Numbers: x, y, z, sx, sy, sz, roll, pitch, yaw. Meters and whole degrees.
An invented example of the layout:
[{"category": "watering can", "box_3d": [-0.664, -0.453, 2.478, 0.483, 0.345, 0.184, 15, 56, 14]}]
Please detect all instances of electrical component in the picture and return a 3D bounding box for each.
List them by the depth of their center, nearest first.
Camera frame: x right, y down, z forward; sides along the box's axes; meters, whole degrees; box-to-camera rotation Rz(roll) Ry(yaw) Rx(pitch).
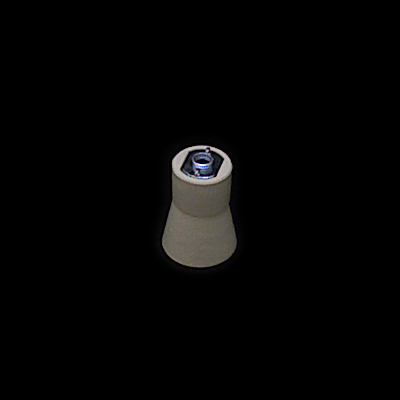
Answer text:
[{"category": "electrical component", "box_3d": [0.000, 0.000, 0.628, 0.044, 0.066, 0.044, 1, 42, -1]}]
